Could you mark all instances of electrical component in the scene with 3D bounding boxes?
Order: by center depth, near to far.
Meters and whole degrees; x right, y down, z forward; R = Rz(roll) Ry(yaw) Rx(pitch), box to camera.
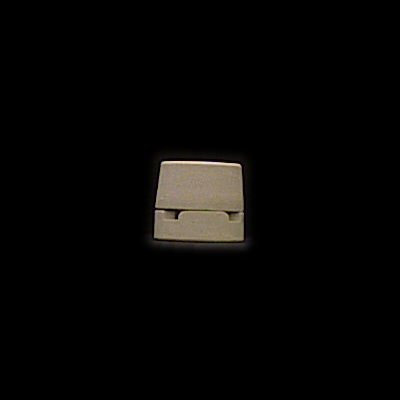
[{"bbox_3d":[0.000,0.000,0.650,0.055,0.047,0.055,2,1,0],"label":"electrical component"}]
